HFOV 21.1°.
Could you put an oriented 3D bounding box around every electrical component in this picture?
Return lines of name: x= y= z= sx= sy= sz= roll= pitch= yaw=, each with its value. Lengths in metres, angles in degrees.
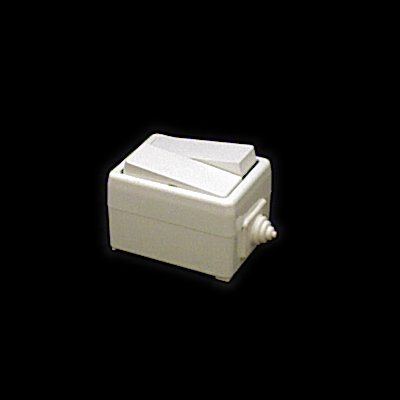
electrical component: x=0.000 y=0.000 z=0.634 sx=0.096 sy=0.061 sz=0.061 roll=14 pitch=34 yaw=21
